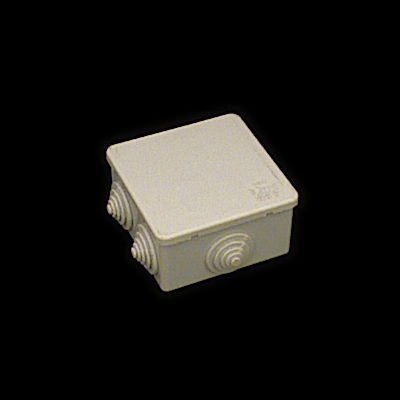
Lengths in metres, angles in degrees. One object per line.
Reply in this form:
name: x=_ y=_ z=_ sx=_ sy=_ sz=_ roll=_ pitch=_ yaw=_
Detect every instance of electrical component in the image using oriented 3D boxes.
electrical component: x=0.000 y=0.000 z=0.642 sx=0.100 sy=0.049 sz=0.098 roll=-16 pitch=46 yaw=-18
